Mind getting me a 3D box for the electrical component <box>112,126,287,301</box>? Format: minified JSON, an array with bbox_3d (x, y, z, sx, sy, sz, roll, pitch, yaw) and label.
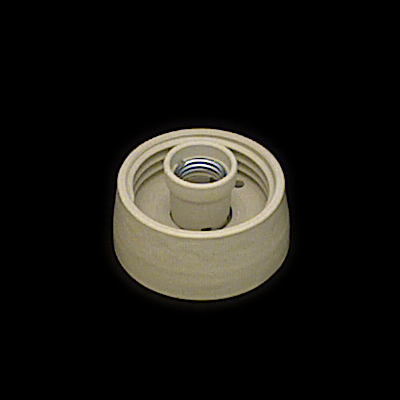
[{"bbox_3d":[0.000,0.000,0.637,0.108,0.061,0.107,1,43,0],"label":"electrical component"}]
